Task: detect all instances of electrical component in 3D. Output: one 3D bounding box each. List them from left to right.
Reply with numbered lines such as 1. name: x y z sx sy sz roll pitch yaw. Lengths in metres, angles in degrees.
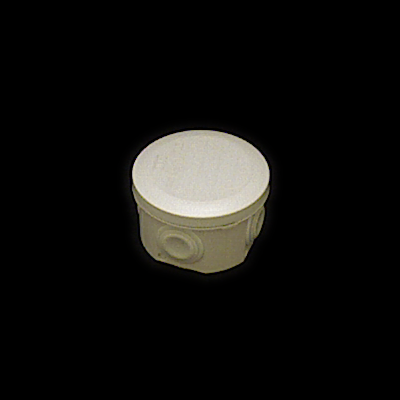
1. electrical component: 0.000 0.000 0.635 0.080 0.051 0.079 1 42 0
